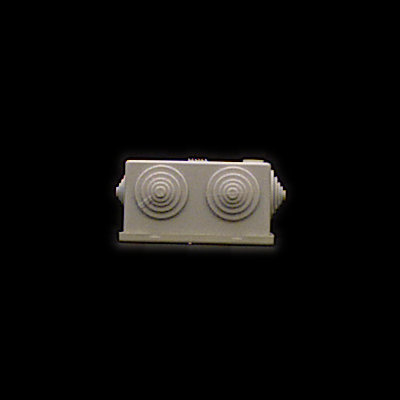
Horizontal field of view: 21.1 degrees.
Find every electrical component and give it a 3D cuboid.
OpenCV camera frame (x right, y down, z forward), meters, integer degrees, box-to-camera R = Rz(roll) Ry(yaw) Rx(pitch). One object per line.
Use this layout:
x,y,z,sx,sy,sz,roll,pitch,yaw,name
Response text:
0.000,0.000,0.650,0.100,0.048,0.099,1,0,2,electrical component
